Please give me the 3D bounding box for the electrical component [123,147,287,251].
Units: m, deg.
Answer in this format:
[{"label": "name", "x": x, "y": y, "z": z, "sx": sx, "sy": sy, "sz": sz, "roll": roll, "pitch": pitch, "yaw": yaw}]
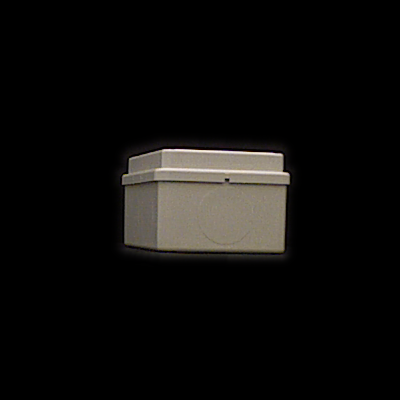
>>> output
[{"label": "electrical component", "x": 0.000, "y": 0.000, "z": 0.650, "sx": 0.078, "sy": 0.057, "sz": 0.113, "roll": 1, "pitch": 0, "yaw": -15}]
